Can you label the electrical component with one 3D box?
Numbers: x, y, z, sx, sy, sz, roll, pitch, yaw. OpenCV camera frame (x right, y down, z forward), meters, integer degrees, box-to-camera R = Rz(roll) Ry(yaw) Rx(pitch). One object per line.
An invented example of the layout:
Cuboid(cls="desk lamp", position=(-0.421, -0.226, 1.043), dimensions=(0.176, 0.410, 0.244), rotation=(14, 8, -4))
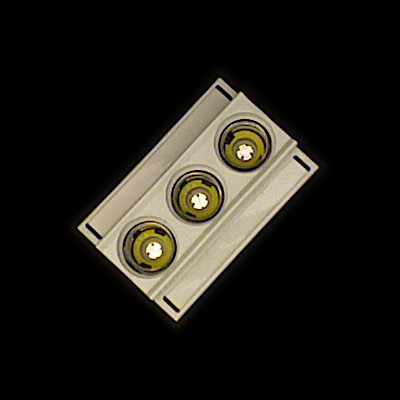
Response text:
Cuboid(cls="electrical component", position=(0.000, 0.000, 0.637), dimensions=(0.079, 0.121, 0.063), rotation=(43, -4, 6))
